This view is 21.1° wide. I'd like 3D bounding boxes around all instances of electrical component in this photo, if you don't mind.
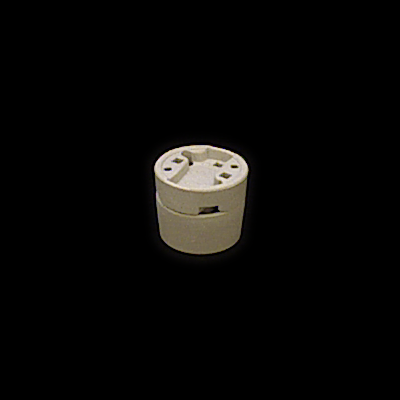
[{"bbox_3d":[0.000,0.000,0.640,0.055,0.047,0.055,1,32,0],"label":"electrical component"}]
